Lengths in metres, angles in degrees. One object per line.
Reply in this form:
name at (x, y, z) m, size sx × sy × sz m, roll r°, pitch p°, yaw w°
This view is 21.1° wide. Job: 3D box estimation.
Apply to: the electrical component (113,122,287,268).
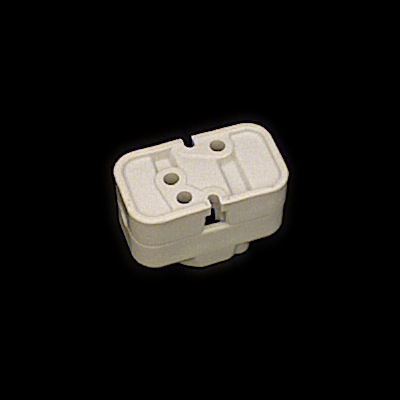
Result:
electrical component at (0.000, 0.000, 0.635) m, size 0.095 × 0.053 × 0.059 m, roll -15°, pitch -36°, yaw -12°
